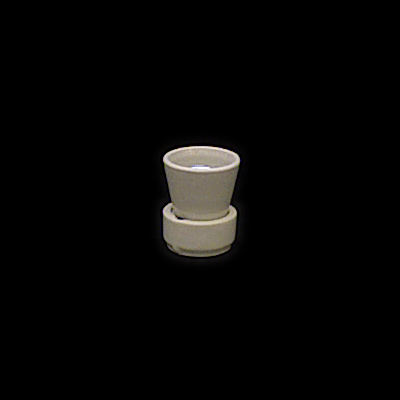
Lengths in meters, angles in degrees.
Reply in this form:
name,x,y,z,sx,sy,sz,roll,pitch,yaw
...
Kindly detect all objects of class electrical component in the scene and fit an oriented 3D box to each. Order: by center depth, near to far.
name,x,y,z,sx,sy,sz,roll,pitch,yaw
electrical component,0.000,0.000,0.640,0.045,0.056,0.044,1,22,0
